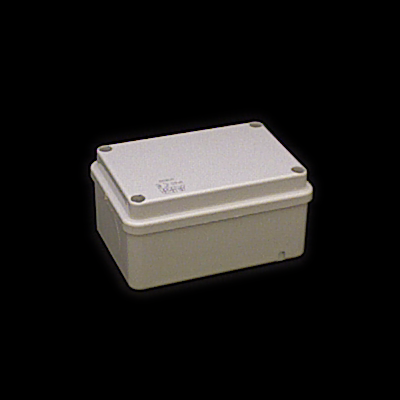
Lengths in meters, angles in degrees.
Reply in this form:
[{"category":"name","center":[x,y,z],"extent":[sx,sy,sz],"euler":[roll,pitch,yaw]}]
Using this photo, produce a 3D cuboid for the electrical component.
[{"category":"electrical component","center":[0.000,0.000,0.633],"extent":[0.113,0.058,0.077],"euler":[-10,33,-19]}]
